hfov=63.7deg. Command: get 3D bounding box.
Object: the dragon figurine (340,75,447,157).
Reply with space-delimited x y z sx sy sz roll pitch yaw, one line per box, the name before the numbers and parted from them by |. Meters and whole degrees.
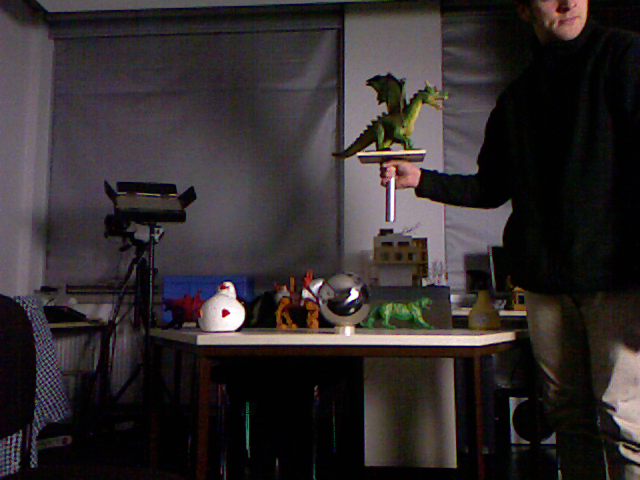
dragon figurine | 0.207 -0.394 1.627 0.410 0.242 0.123 1 6 40
